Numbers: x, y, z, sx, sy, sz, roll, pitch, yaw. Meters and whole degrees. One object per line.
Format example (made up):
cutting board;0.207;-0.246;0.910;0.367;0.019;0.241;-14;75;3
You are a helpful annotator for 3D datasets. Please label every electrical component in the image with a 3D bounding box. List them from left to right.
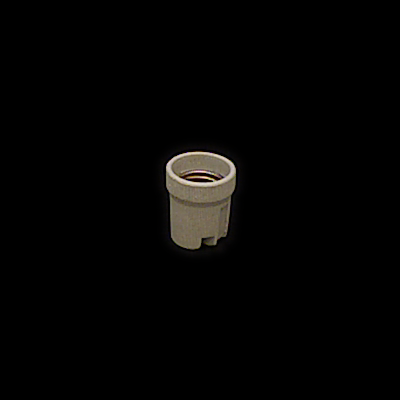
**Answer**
electrical component;0.000;0.000;0.635;0.040;0.047;0.039;1;32;0
